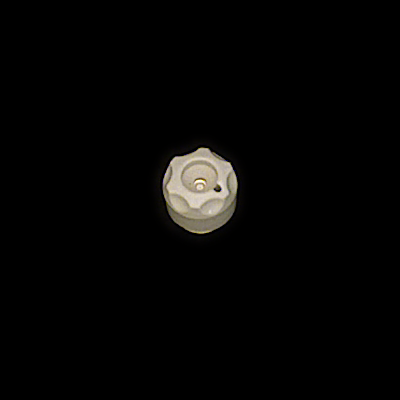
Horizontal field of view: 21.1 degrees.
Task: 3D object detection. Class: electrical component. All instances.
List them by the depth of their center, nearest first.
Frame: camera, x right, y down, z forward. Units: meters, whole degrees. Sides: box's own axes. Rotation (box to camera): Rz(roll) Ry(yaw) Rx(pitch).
[{"bbox_3d":[0.000,0.000,0.634,0.043,0.043,0.062,0,-27,1],"label":"electrical component"}]
